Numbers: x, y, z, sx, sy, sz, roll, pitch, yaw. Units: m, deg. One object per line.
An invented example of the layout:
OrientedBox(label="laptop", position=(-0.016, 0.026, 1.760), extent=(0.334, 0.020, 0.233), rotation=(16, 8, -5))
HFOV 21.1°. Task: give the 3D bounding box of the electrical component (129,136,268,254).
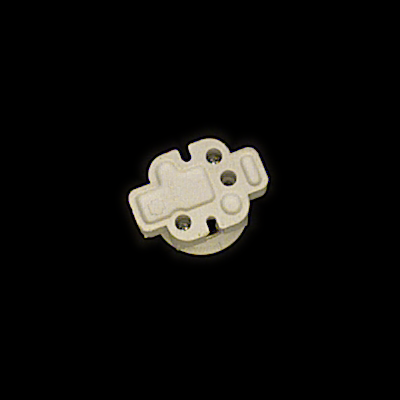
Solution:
OrientedBox(label="electrical component", position=(0.000, 0.000, 0.635), extent=(0.079, 0.058, 0.056), rotation=(-22, -14, -5))
